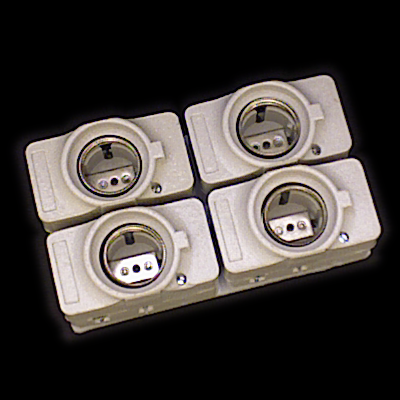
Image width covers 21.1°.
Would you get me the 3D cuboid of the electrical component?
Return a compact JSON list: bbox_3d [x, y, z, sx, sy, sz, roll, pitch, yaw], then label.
[{"bbox_3d":[0.000,0.000,0.626,0.186,0.106,0.060,-14,-17,-4],"label":"electrical component"}]
